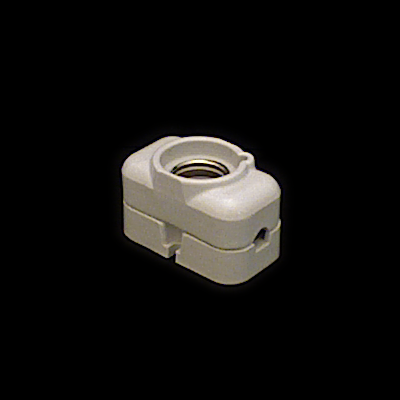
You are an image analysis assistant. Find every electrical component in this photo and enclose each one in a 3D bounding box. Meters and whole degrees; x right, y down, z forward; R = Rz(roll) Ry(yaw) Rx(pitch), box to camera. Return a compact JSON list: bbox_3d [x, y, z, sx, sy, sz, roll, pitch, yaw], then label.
[{"bbox_3d":[0.000,0.000,0.642,0.094,0.060,0.053,25,40,32],"label":"electrical component"}]
